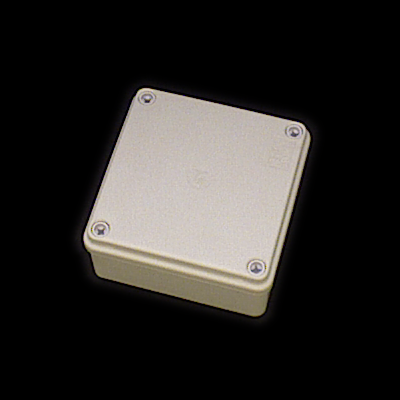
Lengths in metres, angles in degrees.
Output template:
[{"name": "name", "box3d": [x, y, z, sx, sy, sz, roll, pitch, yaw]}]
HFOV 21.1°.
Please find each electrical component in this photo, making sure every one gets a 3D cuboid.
[{"name": "electrical component", "box3d": [0.000, 0.000, 0.629, 0.108, 0.109, 0.056, 14, -27, 7]}]
